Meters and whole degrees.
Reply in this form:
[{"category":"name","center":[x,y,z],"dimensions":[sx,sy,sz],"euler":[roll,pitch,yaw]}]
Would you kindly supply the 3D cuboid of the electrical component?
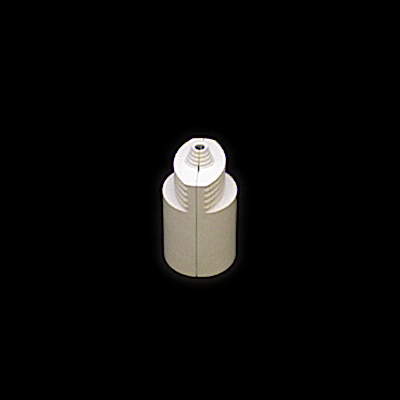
[{"category":"electrical component","center":[0.000,0.000,0.624],"dimensions":[0.043,0.082,0.042],"euler":[1,41,0]}]
